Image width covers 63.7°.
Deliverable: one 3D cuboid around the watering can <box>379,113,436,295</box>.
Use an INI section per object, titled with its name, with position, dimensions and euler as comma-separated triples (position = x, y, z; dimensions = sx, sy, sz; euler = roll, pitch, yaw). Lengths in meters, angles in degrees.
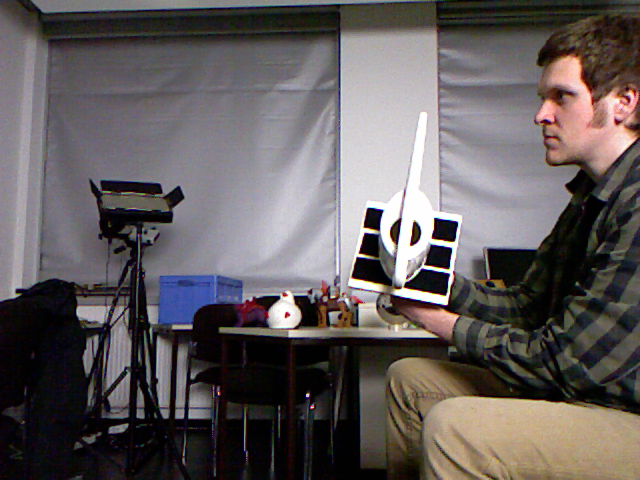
[watering can]
position = 0.179, -0.055, 1.020
dimensions = 0.104, 0.354, 0.221
euler = 10, -19, 9
